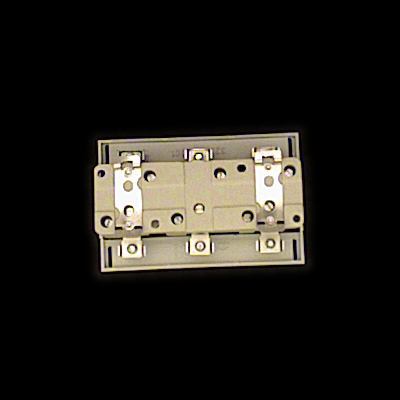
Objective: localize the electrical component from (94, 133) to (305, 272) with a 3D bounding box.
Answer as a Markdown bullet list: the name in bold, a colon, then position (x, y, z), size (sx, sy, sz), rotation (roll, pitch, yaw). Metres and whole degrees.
- **electrical component**: position (0.000, 0.000, 0.635), size (0.121, 0.079, 0.063), rotation (-2, -7, 0)
